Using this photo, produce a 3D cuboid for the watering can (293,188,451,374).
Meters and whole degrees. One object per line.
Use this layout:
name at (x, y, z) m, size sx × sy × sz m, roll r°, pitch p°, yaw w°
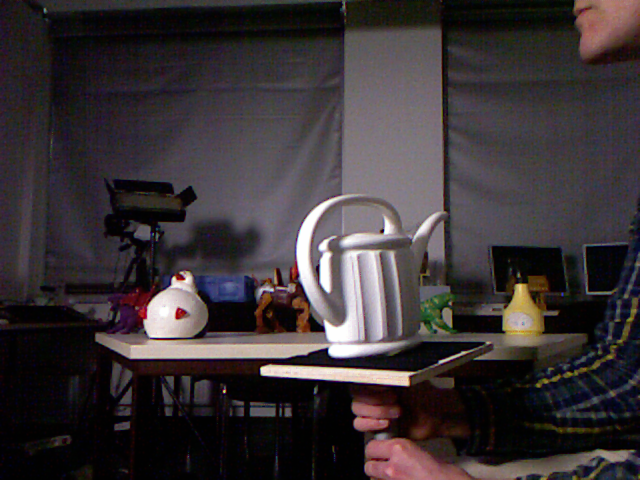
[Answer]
watering can at (0.092, 0.048, 0.663) m, size 0.104 × 0.226 × 0.350 m, roll -4°, pitch -1°, yaw 40°
